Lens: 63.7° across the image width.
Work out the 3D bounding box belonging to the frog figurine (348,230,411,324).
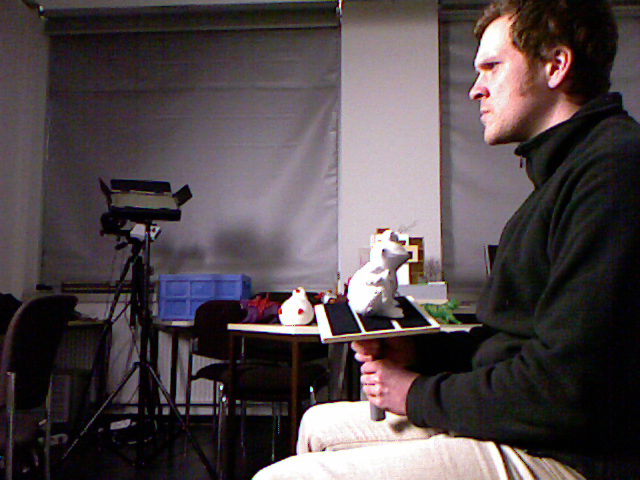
[{"bbox_3d":[0.107,0.063,0.957,0.123,0.158,0.139,-2,10,18],"label":"frog figurine"}]
